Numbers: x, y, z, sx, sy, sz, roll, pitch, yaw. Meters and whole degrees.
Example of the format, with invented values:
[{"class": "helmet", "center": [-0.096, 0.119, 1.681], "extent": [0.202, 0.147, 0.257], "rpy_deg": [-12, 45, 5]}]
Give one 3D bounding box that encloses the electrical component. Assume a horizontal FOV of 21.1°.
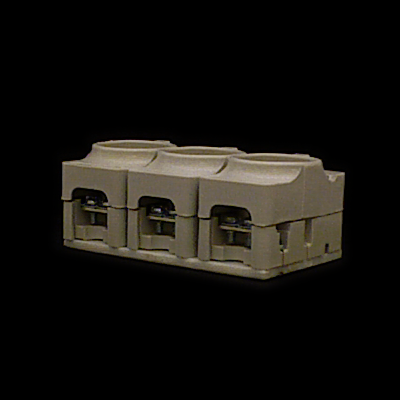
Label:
[{"class": "electrical component", "center": [0.000, 0.000, 0.652], "extent": [0.149, 0.062, 0.089], "rpy_deg": [8, 12, 34]}]
